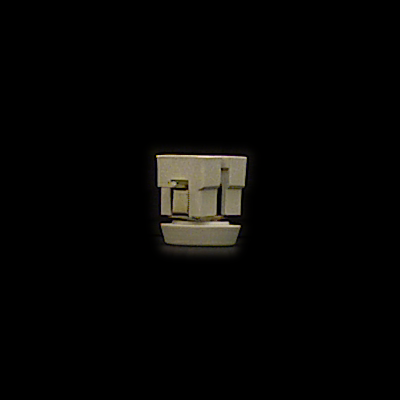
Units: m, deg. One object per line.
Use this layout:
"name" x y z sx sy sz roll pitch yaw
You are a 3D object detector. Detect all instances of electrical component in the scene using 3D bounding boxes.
"electrical component" 0.000 0.000 0.658 0.048 0.055 0.067 4 4 39
